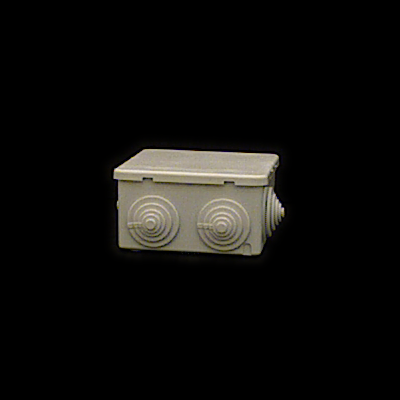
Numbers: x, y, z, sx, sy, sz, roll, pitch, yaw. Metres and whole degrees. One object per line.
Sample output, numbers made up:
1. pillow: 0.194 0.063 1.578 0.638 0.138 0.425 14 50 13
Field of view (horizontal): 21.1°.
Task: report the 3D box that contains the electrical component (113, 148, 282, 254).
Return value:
1. electrical component: 0.000 0.000 0.650 0.099 0.049 0.099 3 11 8
